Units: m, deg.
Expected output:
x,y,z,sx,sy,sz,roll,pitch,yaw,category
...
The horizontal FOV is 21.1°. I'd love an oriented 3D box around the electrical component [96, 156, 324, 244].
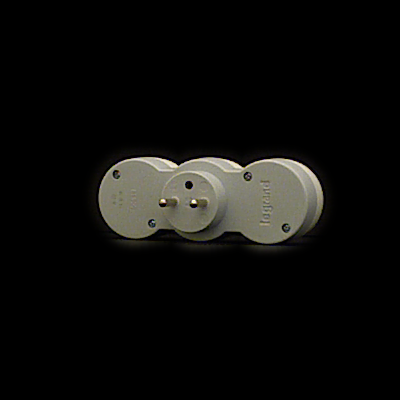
x,y,z,sx,sy,sz,roll,pitch,yaw,category
0.000,0.000,0.654,0.137,0.052,0.074,2,3,20,electrical component
